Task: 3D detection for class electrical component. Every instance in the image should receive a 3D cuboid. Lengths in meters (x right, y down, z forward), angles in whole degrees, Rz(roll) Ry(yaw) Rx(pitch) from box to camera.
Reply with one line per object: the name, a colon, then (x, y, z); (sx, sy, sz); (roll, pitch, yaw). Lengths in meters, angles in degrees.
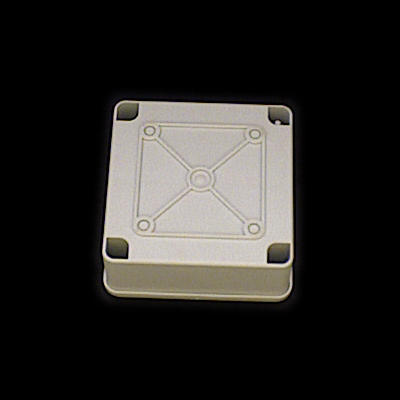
electrical component: (0.000, 0.000, 0.629); (0.109, 0.108, 0.056); (2, -27, 0)
